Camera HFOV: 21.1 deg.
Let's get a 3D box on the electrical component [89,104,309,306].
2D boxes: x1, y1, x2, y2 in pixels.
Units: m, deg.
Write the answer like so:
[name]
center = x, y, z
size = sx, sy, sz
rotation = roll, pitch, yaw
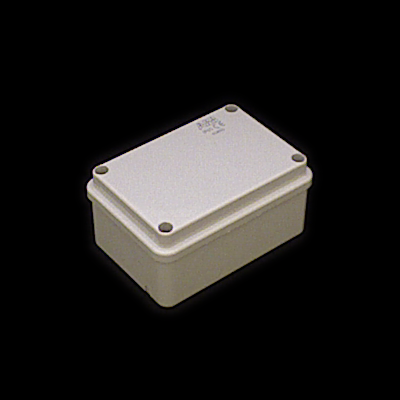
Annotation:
[electrical component]
center = 0.000, 0.000, 0.632
size = 0.113, 0.057, 0.077
rotation = -28, 49, -28
